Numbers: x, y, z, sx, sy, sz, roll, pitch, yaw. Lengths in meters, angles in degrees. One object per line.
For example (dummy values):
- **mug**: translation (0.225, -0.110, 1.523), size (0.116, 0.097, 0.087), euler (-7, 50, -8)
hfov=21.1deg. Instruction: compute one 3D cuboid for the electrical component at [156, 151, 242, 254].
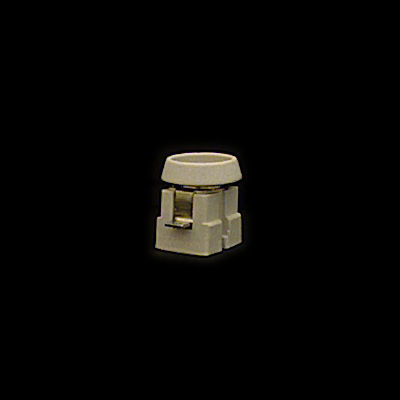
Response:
- **electrical component**: translation (0.000, 0.000, 0.650), size (0.048, 0.056, 0.066), euler (5, 12, 28)
